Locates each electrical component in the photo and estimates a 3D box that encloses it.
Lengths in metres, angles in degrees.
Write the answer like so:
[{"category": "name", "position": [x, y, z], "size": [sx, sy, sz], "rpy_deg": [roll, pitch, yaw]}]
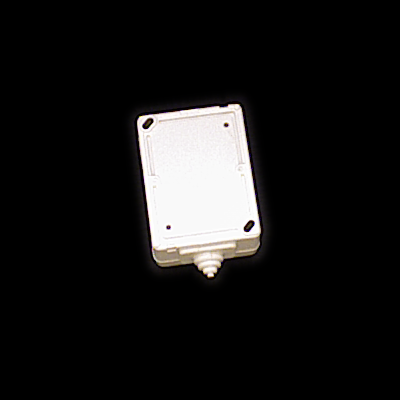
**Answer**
[{"category": "electrical component", "position": [0.000, 0.000, 0.627], "size": [0.062, 0.097, 0.060], "rpy_deg": [-8, -16, -2]}]
